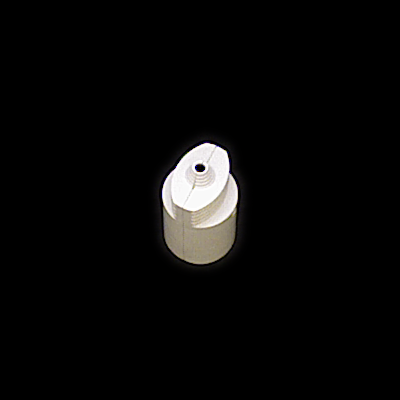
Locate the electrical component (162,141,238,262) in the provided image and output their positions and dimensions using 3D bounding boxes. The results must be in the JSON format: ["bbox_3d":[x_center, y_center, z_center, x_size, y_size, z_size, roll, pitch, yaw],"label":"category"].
[{"bbox_3d":[0.000,0.000,0.617,0.043,0.043,0.081,0,-27,0],"label":"electrical component"}]
